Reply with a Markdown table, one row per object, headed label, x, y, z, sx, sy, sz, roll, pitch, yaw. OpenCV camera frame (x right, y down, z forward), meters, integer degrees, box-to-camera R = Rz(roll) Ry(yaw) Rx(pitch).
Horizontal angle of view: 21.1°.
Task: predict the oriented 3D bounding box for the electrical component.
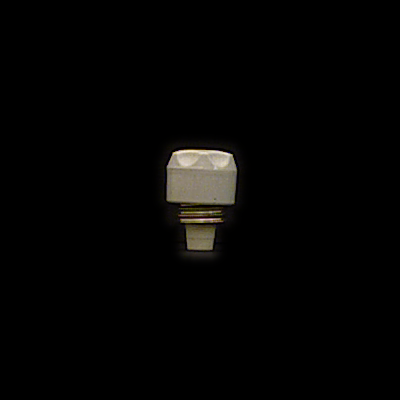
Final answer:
| label | x | y | z | sx | sy | sz | roll | pitch | yaw |
| --- | --- | --- | --- | --- | --- | --- | --- | --- | --- |
| electrical component | 0.000 | 0.000 | 0.656 | 0.043 | 0.062 | 0.043 | 2 | 3 | 0 |
